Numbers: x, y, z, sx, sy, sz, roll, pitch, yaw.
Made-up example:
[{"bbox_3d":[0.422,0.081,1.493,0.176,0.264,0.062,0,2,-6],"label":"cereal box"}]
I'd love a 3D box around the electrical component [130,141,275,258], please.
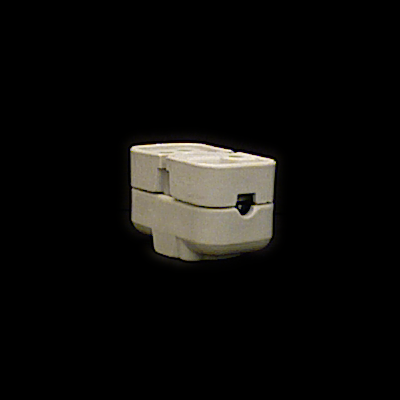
[{"bbox_3d":[0.000,0.000,0.649,0.054,0.060,0.093,-7,14,-34],"label":"electrical component"}]
